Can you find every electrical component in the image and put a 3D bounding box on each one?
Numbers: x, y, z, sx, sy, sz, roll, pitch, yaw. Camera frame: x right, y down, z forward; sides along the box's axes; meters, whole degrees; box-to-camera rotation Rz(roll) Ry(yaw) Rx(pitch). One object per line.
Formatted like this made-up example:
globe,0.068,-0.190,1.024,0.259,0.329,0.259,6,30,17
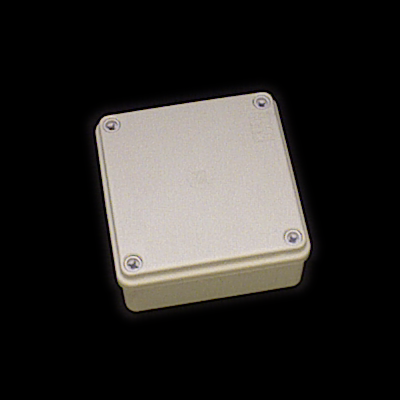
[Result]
electrical component,0.000,0.000,0.629,0.109,0.109,0.056,-9,-27,-4
